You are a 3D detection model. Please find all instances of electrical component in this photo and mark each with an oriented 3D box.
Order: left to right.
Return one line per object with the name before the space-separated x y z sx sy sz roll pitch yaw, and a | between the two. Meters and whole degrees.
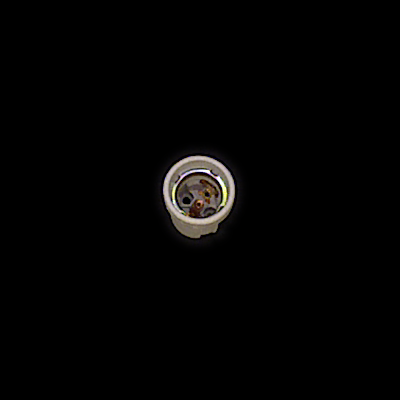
electrical component | 0.000 0.000 0.626 0.040 0.040 0.046 0 -17 -1
